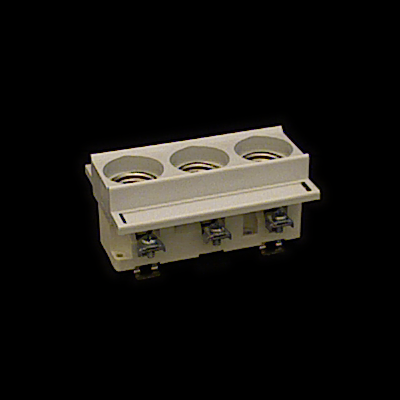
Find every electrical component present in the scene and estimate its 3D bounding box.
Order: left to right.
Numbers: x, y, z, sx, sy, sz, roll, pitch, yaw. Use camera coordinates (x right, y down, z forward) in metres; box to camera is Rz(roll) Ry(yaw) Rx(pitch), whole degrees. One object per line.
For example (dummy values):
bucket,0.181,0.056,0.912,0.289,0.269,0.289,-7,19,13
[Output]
electrical component,0.000,0.000,0.647,0.122,0.064,0.077,-10,32,-16
